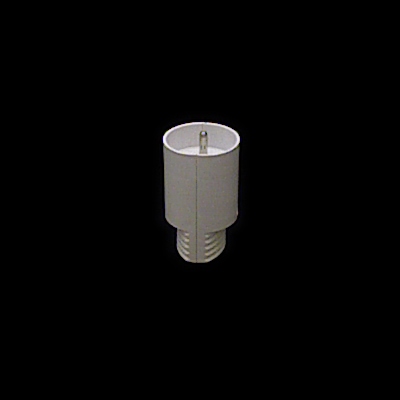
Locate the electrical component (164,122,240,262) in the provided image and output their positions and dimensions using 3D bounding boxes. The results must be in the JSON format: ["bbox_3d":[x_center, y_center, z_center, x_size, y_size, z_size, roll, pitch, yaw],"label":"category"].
[{"bbox_3d":[0.000,0.000,0.629,0.043,0.082,0.042,1,31,0],"label":"electrical component"}]
